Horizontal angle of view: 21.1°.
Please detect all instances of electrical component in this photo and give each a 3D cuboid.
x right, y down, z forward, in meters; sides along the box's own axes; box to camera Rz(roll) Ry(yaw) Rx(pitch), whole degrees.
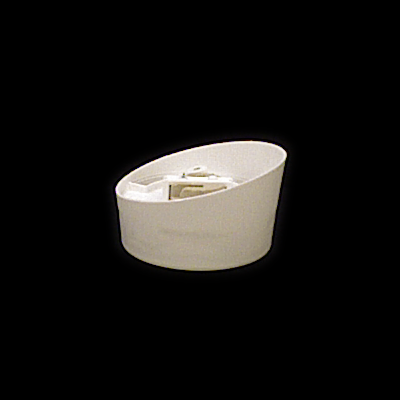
[{"bbox_3d":[0.000,0.000,0.639,0.099,0.065,0.097,2,20,-1],"label":"electrical component"}]
